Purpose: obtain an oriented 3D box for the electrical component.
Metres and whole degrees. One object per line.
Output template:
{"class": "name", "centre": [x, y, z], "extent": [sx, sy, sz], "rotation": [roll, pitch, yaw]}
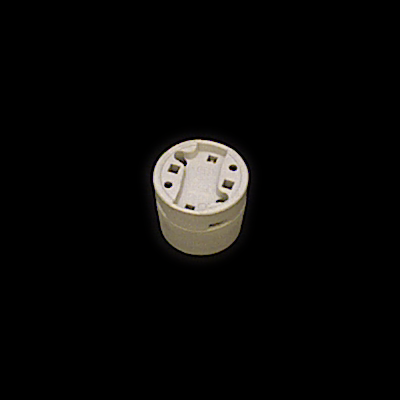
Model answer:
{"class": "electrical component", "centre": [0.000, 0.000, 0.634], "extent": [0.055, 0.055, 0.047], "rotation": [0, -38, 0]}
